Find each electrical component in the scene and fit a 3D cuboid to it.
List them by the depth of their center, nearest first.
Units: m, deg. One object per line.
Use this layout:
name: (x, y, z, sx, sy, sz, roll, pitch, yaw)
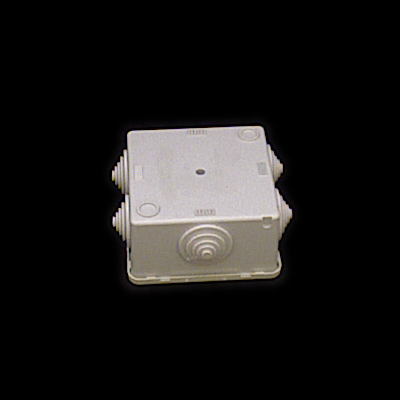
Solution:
electrical component: (0.000, 0.000, 0.633, 0.100, 0.049, 0.099, -2, 42, -3)
